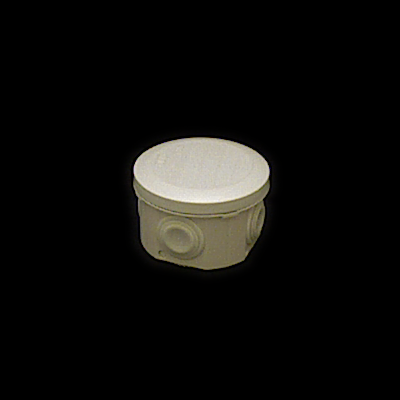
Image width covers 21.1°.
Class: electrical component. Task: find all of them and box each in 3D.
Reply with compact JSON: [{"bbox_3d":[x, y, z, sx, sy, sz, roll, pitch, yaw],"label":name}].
[{"bbox_3d":[0.000,0.000,0.639,0.080,0.051,0.079,1,31,0],"label":"electrical component"}]
